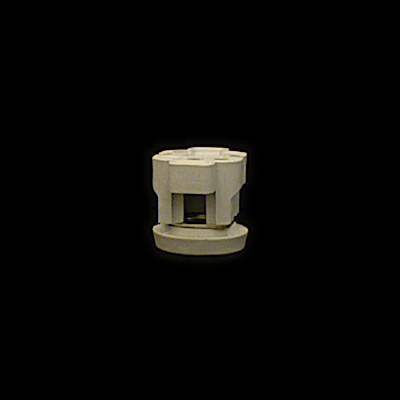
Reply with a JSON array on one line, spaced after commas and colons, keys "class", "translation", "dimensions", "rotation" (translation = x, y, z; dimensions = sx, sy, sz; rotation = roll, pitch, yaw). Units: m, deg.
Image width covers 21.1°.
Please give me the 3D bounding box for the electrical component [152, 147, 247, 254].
[{"class": "electrical component", "translation": [0.000, 0.000, 0.653], "dimensions": [0.058, 0.057, 0.078], "rotation": [2, 10, 7]}]
